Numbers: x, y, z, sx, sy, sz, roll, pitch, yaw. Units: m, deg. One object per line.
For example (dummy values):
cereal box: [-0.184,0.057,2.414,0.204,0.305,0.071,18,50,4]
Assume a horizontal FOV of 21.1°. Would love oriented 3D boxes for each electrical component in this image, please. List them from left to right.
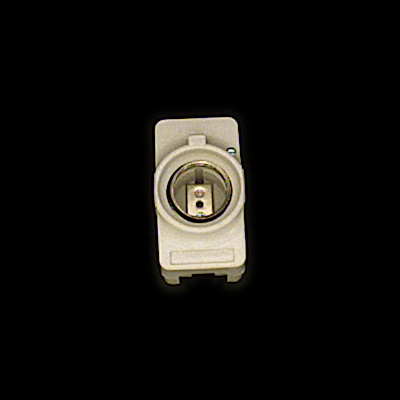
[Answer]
electrical component: [0.000,0.000,0.636,0.050,0.090,0.055,-3,-16,-1]
